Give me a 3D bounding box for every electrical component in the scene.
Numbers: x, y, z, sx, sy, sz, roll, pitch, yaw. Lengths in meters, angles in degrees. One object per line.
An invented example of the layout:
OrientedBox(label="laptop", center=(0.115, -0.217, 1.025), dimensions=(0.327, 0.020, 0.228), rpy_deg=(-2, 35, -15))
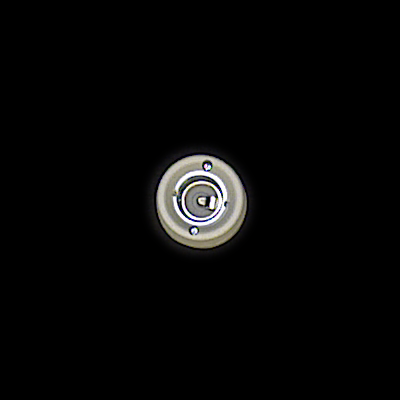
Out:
OrientedBox(label="electrical component", center=(0.000, 0.000, 0.633), dimensions=(0.055, 0.055, 0.047), rpy_deg=(0, -6, 1))
